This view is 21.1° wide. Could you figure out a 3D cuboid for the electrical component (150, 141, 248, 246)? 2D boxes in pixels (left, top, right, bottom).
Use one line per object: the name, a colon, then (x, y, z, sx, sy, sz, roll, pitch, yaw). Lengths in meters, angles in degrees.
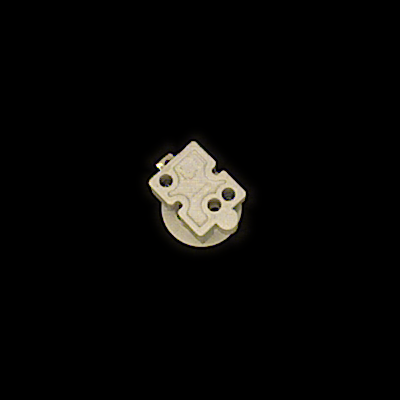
electrical component: (0.000, 0.000, 0.637, 0.048, 0.066, 0.055, -42, -13, -9)
